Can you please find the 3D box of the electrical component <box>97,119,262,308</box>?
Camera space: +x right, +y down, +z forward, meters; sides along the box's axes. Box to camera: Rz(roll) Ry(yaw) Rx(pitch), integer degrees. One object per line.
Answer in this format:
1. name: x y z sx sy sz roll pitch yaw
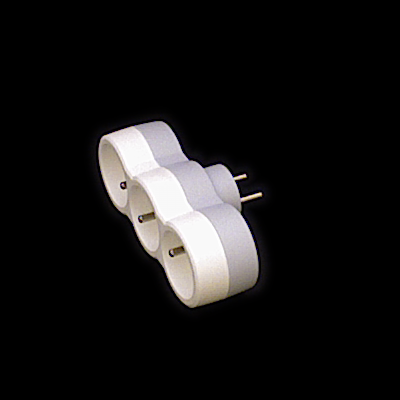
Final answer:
1. electrical component: 0.000 0.000 0.635 0.074 0.052 0.137 -18 45 -22
